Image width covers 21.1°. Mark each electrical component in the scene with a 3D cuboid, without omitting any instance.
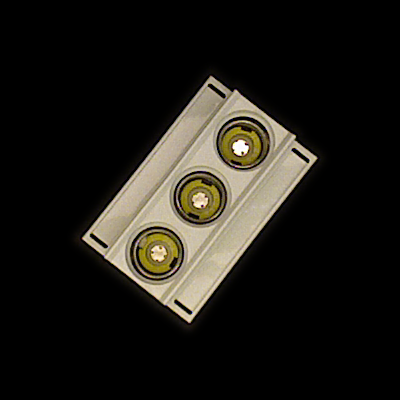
[{"bbox_3d":[0.000,0.000,0.637,0.079,0.121,0.063,38,-4,2],"label":"electrical component"}]
